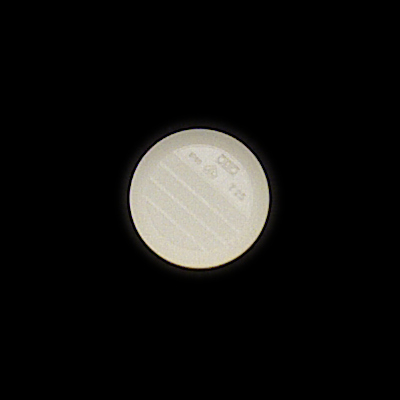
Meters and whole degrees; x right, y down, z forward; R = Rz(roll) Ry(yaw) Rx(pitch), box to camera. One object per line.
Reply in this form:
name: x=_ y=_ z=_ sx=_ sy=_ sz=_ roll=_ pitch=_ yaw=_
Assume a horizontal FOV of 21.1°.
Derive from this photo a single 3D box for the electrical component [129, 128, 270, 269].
electrical component: x=0.000 y=0.000 z=0.631 sx=0.080 sy=0.080 sz=0.050 roll=0 pitch=-6 yaw=0
